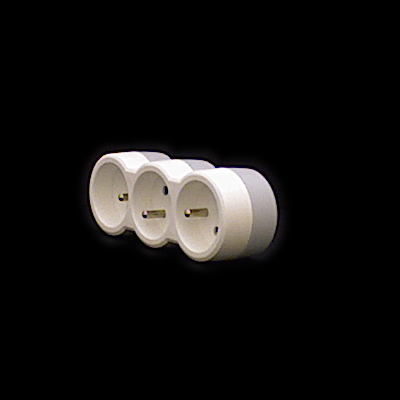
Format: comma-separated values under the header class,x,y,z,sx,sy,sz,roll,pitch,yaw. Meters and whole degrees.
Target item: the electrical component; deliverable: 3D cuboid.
class,x,y,z,sx,sy,sz,roll,pitch,yaw
electrical component,0.000,0.000,0.647,0.074,0.052,0.137,-5,11,-39
